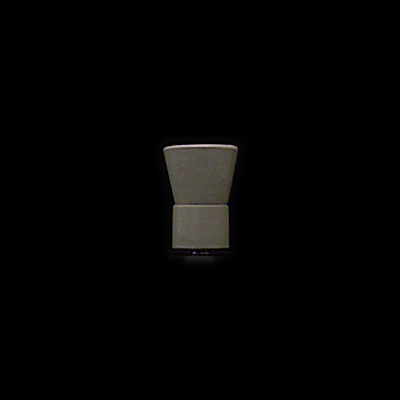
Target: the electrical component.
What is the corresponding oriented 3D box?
[{"bbox_3d":[0.000,0.000,0.649,0.044,0.065,0.044,0,1,0],"label":"electrical component"}]
